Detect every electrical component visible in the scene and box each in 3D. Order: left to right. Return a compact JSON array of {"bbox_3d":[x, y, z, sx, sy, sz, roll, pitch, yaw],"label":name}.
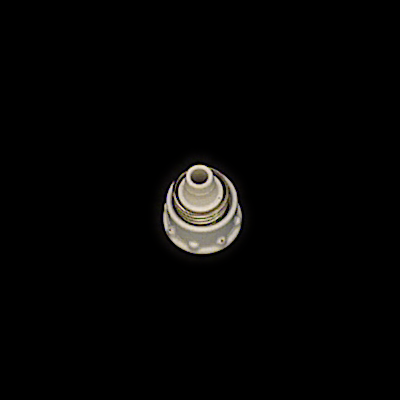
[{"bbox_3d":[0.000,0.000,0.633,0.048,0.048,0.062,0,-27,2],"label":"electrical component"}]
